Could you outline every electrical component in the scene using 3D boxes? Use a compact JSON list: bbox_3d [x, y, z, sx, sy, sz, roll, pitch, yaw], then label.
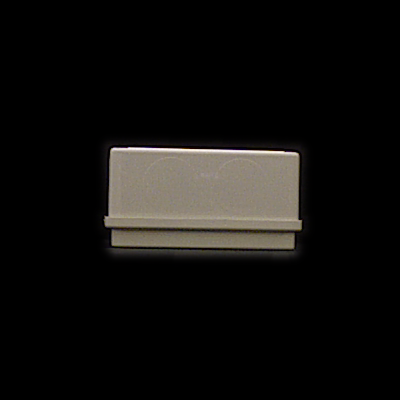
[{"bbox_3d":[0.000,0.000,0.649,0.113,0.057,0.078,1,0,-5],"label":"electrical component"}]
